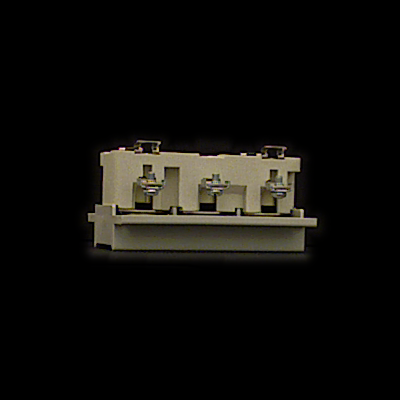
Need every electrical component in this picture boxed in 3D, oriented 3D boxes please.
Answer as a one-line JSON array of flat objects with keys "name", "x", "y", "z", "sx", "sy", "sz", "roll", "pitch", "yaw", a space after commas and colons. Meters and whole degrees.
[{"name": "electrical component", "x": 0.000, "y": 0.000, "z": 0.659, "sx": 0.122, "sy": 0.063, "sz": 0.078, "roll": 2, "pitch": 0, "yaw": -20}]
